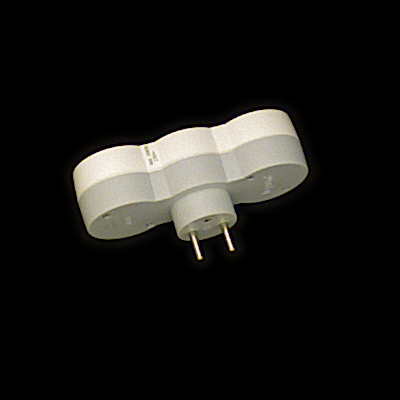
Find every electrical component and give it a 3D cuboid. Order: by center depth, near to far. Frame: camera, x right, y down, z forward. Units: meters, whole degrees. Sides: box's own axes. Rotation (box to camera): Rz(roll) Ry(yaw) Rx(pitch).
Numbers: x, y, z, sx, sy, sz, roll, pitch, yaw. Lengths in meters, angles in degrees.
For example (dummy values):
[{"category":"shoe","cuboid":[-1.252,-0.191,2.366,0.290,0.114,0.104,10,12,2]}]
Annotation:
[{"category":"electrical component","cuboid":[0.000,0.000,0.636,0.139,0.073,0.052,-15,-24,-8]}]
